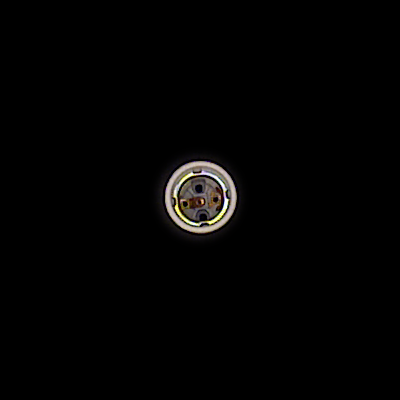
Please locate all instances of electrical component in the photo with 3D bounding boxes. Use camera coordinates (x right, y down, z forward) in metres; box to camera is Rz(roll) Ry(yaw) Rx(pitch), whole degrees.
[{"bbox_3d":[0.000,0.000,0.627,0.040,0.040,0.046,0,-6,0],"label":"electrical component"}]
